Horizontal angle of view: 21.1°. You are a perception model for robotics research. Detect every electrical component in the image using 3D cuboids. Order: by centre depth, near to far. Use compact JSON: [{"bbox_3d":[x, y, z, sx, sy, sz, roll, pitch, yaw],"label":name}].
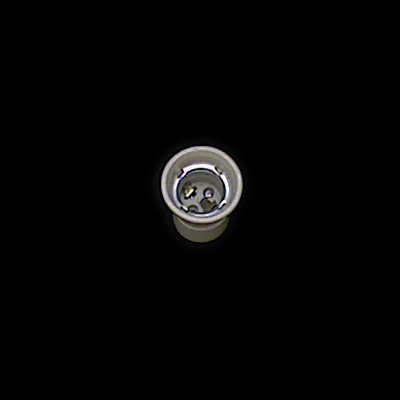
[{"bbox_3d":[0.000,0.000,0.625,0.044,0.044,0.065,0,-18,0],"label":"electrical component"}]
